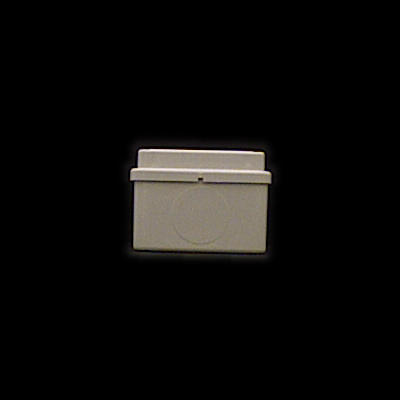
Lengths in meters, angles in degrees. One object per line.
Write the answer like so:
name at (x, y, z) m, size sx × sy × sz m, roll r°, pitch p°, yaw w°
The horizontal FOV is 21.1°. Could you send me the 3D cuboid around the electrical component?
electrical component at (0.000, 0.000, 0.649) m, size 0.078 × 0.057 × 0.113 m, roll 1°, pitch 0°, yaw 0°
